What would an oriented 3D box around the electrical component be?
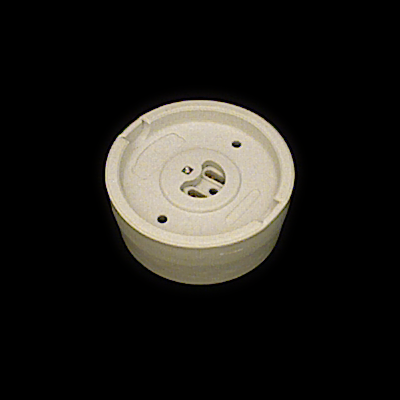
[{"bbox_3d":[0.000,0.000,0.635,0.108,0.107,0.060,0,-37,-1],"label":"electrical component"}]
